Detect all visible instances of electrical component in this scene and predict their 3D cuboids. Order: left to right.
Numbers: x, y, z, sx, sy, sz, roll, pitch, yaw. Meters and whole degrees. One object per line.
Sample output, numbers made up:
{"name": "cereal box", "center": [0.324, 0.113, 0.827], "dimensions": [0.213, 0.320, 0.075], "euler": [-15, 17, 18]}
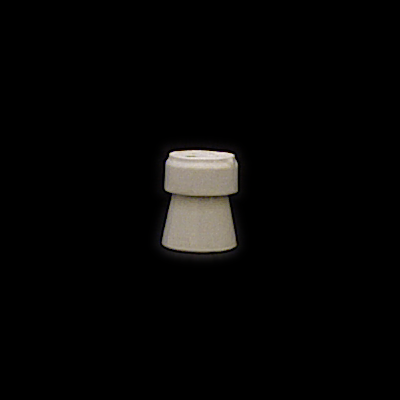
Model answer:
{"name": "electrical component", "center": [0.000, 0.000, 0.646], "dimensions": [0.045, 0.055, 0.044], "euler": [2, 11, 0]}
